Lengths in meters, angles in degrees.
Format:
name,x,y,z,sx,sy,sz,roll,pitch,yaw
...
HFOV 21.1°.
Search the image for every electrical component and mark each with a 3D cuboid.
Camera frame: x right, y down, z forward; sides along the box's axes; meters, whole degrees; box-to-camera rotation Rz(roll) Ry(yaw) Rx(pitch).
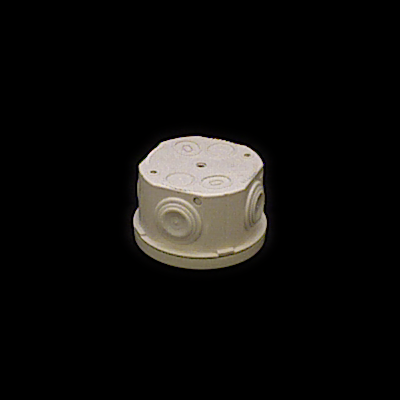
name,x,y,z,sx,sy,sz,roll,pitch,yaw
electrical component,0.000,0.000,0.638,0.080,0.051,0.079,1,31,-1
